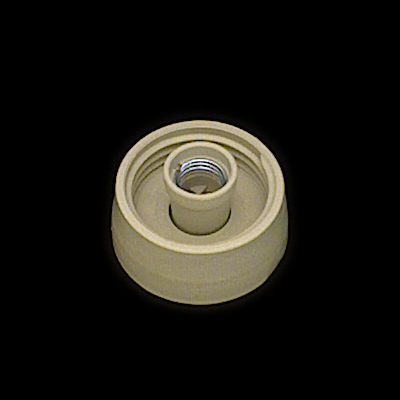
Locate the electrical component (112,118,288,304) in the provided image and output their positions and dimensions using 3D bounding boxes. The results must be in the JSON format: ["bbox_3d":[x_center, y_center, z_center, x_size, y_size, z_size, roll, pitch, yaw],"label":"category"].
[{"bbox_3d":[0.000,0.000,0.635,0.108,0.107,0.060,0,-37,-1],"label":"electrical component"}]
